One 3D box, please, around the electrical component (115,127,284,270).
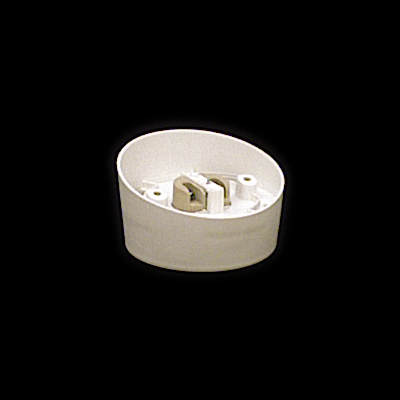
[{"bbox_3d":[0.000,0.000,0.638,0.099,0.065,0.097,0,20,0],"label":"electrical component"}]
